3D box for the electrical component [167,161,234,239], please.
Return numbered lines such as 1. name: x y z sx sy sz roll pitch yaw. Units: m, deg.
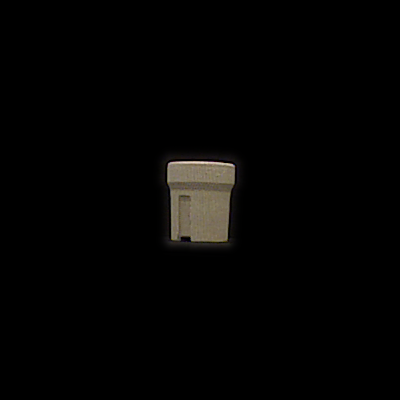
1. electrical component: 0.000 0.000 0.651 0.040 0.046 0.040 1 1 0
